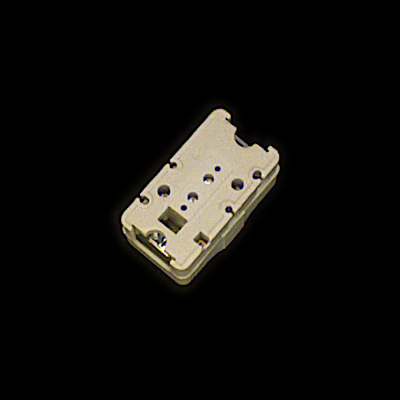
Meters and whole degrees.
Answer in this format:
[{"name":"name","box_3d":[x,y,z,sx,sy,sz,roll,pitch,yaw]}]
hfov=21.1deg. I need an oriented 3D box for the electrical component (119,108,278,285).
[{"name":"electrical component","box_3d":[0.000,0.000,0.636,0.050,0.090,0.055,39,-12,10]}]
